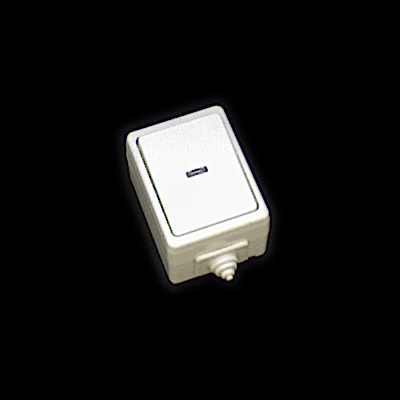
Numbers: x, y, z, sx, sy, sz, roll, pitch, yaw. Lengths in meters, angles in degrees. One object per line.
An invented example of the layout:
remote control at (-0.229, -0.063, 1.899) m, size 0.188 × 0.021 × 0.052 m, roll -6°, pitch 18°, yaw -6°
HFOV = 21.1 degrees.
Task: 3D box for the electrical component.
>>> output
electrical component at (0.000, 0.000, 0.625) m, size 0.062 × 0.096 × 0.060 m, roll -18°, pitch -26°, yaw -9°
